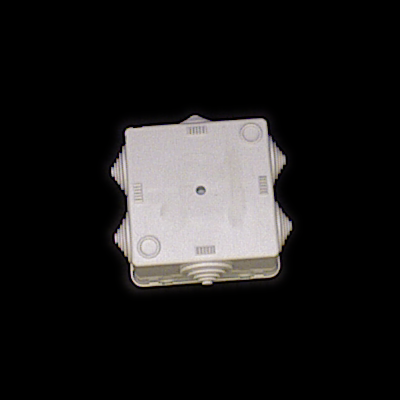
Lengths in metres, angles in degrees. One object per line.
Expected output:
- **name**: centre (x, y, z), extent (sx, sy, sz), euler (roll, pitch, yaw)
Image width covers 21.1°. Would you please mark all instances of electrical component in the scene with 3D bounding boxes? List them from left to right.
- **electrical component**: centre (0.000, 0.000, 0.632), extent (0.100, 0.100, 0.048), euler (-4, -17, -1)
